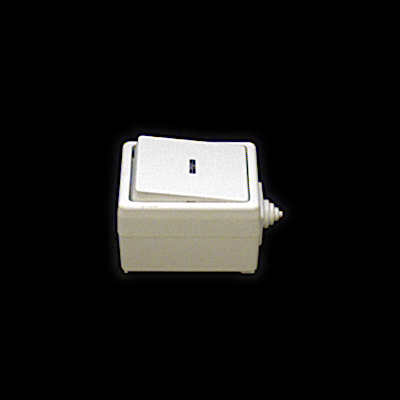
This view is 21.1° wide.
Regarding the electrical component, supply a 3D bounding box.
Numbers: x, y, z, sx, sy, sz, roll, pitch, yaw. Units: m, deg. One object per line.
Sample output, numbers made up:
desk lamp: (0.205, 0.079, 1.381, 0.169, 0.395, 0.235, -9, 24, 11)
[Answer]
electrical component: (0.000, 0.000, 0.630, 0.096, 0.061, 0.061, 0, 42, -1)
